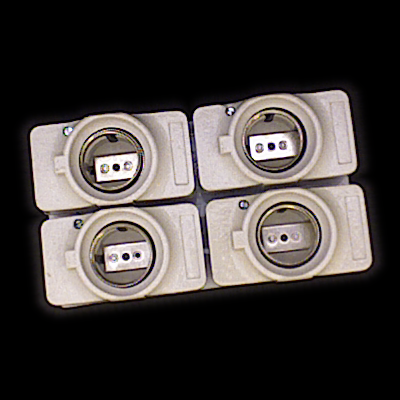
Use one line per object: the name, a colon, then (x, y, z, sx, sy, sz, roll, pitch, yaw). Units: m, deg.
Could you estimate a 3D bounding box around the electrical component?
electrical component: (0.000, 0.000, 0.626, 0.186, 0.106, 0.060, -7, -7, -1)
